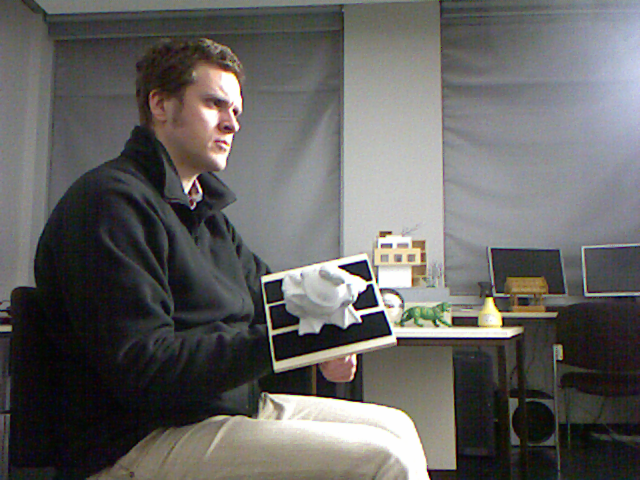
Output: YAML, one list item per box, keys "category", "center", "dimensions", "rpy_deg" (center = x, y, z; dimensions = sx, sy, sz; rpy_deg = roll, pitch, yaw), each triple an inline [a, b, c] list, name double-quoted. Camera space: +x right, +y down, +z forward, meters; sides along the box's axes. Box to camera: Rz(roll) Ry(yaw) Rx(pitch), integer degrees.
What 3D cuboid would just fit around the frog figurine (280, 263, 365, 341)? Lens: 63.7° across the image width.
- category: "frog figurine"
  center: [0.001, 0.075, 0.823]
  dimensions: [0.138, 0.126, 0.156]
  rpy_deg: [2, -42, 10]
